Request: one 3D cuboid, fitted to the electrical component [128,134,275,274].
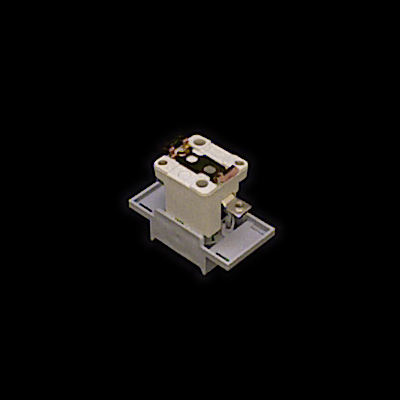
[{"bbox_3d":[0.000,0.000,0.630,0.080,0.064,0.042,32,51,29],"label":"electrical component"}]
